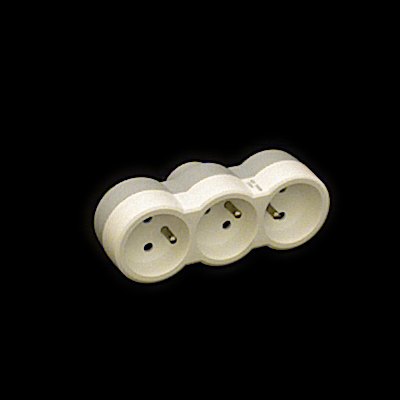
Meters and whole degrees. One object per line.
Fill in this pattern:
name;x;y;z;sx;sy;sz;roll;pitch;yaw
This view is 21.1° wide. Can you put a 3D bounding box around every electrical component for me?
electrical component;0.000;0.000;0.647;0.139;0.053;0.072;-13;33;-21
